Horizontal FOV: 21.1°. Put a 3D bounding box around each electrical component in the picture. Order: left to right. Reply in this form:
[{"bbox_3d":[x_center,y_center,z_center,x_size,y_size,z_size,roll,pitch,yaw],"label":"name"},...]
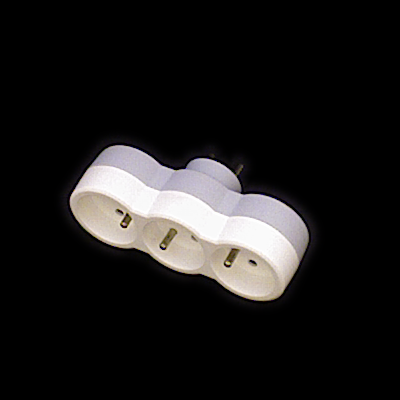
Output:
[{"bbox_3d":[0.000,0.000,0.632,0.138,0.074,0.052,20,-37,15],"label":"electrical component"}]
